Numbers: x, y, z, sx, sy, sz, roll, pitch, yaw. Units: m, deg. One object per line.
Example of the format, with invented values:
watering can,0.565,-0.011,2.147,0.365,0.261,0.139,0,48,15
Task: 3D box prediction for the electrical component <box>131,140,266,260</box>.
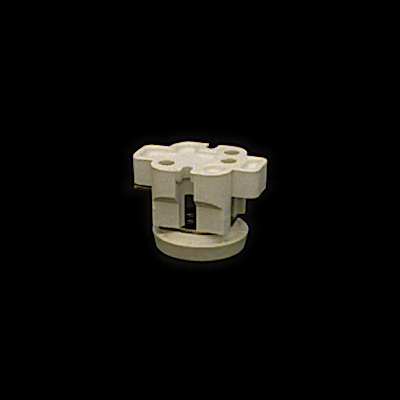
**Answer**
electrical component,0.000,0.000,0.645,0.078,0.057,0.057,6,23,16
